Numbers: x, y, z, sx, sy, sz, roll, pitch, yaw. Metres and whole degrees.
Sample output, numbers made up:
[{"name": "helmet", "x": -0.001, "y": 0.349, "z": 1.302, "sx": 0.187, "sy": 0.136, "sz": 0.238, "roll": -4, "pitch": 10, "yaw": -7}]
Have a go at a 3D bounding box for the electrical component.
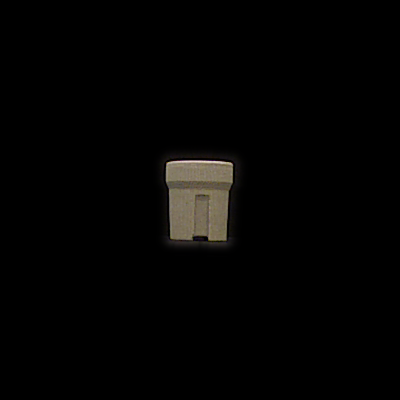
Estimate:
[{"name": "electrical component", "x": 0.000, "y": 0.000, "z": 0.651, "sx": 0.040, "sy": 0.046, "sz": 0.040, "roll": 1, "pitch": 1, "yaw": 0}]
